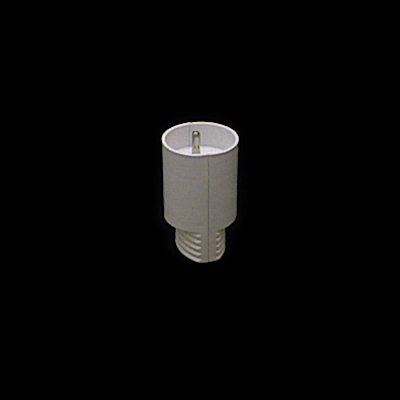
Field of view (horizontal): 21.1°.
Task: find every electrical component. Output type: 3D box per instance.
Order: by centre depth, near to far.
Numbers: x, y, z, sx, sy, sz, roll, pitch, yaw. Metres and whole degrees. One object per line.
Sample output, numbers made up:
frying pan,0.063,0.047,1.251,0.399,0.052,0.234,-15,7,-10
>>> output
electrical component,0.000,0.000,0.629,0.043,0.082,0.042,1,31,0
